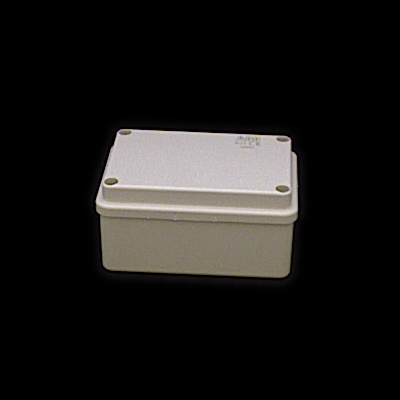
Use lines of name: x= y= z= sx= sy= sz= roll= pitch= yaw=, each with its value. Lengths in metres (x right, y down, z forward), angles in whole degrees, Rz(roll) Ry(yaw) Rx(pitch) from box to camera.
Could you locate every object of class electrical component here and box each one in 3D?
electrical component: x=0.000 y=0.000 z=0.637 sx=0.113 sy=0.058 sz=0.077 roll=2 pitch=31 yaw=2
